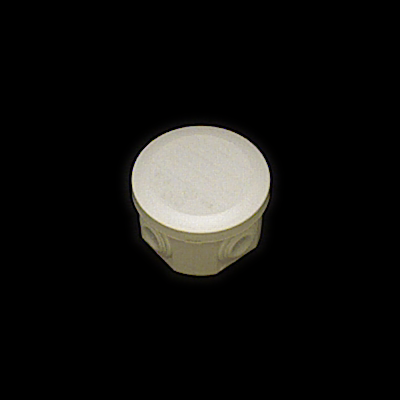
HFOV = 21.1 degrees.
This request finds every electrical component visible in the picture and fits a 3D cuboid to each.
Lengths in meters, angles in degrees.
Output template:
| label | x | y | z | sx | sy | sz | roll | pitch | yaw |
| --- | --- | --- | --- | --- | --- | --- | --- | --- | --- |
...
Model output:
| label | x | y | z | sx | sy | sz | roll | pitch | yaw |
| --- | --- | --- | --- | --- | --- | --- | --- | --- | --- |
| electrical component | 0.000 | 0.000 | 0.632 | 0.080 | 0.080 | 0.051 | 0 | -38 | 0 |
